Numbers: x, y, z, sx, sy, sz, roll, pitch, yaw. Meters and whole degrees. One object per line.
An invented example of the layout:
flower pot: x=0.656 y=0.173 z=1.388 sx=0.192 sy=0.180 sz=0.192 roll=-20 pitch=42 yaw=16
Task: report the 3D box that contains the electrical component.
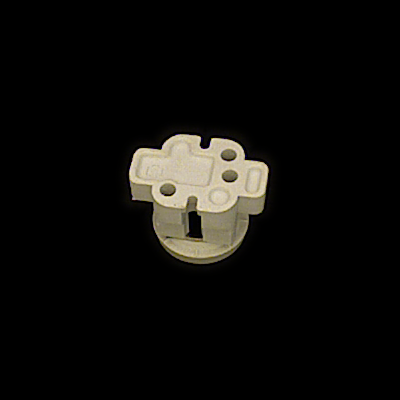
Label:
electrical component: x=0.000 y=0.000 z=0.636 sx=0.078 sy=0.057 sz=0.057 roll=6 pitch=-36 yaw=6
